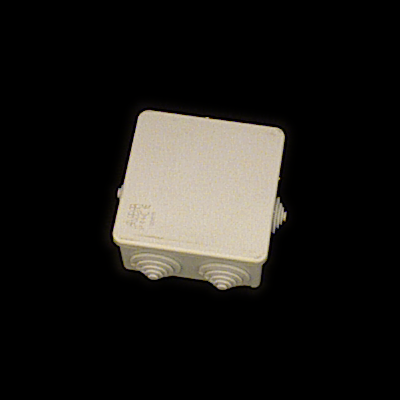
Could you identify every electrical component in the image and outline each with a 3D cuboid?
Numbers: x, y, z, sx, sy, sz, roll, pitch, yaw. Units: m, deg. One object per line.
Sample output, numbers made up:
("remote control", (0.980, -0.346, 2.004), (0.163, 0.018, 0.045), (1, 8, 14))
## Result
("electrical component", (0.000, 0.000, 0.639), (0.099, 0.100, 0.048), (8, -26, 4))
